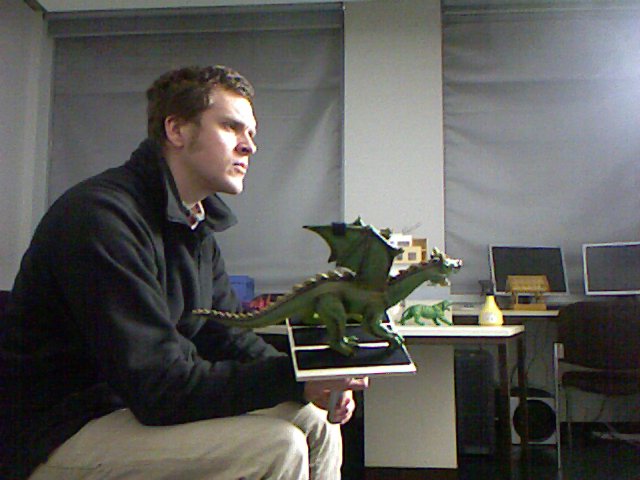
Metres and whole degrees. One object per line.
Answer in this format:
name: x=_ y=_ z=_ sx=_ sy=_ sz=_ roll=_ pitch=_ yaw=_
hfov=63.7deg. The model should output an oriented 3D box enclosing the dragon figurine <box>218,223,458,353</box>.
dragon figurine: x=0.035 y=0.069 z=0.869 sx=0.412 sy=0.238 sz=0.125 roll=1 pitch=33 yaw=-8
